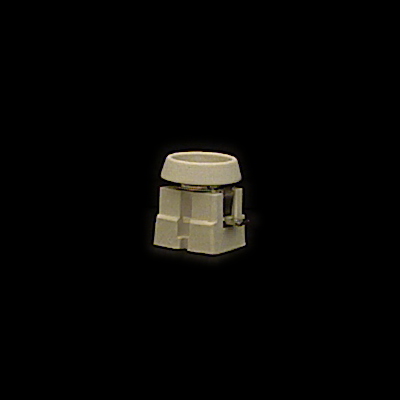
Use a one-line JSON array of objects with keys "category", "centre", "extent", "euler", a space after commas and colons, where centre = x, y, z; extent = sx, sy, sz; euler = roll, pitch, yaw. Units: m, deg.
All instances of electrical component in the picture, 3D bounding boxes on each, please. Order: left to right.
[{"category": "electrical component", "centre": [0.000, 0.000, 0.652], "extent": [0.066, 0.056, 0.048], "euler": [8, 16, 32]}]
